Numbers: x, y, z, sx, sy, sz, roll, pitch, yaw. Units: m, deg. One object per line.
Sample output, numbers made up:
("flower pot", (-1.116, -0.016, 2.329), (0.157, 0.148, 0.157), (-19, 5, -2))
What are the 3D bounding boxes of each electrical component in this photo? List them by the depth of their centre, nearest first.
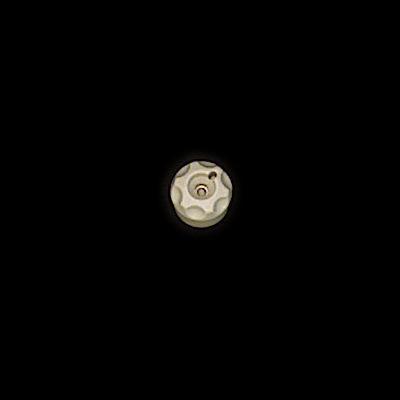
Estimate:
("electrical component", (0.000, 0.000, 0.634), (0.035, 0.035, 0.061), (0, -16, 1))
